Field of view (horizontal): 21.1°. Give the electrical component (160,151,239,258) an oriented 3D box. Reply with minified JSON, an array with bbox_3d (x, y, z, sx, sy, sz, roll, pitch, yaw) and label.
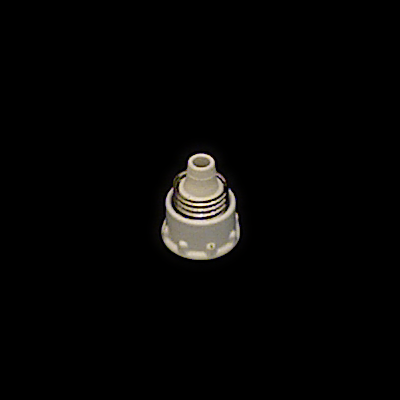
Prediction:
[{"bbox_3d":[0.000,0.000,0.639,0.048,0.062,0.047,1,42,0],"label":"electrical component"}]
